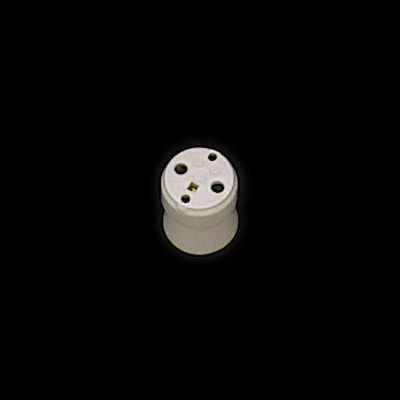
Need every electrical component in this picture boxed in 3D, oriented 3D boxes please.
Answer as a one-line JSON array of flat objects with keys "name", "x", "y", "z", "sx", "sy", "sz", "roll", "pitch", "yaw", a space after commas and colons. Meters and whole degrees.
[{"name": "electrical component", "x": 0.000, "y": 0.000, "z": 0.629, "sx": 0.045, "sy": 0.045, "sz": 0.055, "roll": 0, "pitch": -27, "yaw": 0}]
